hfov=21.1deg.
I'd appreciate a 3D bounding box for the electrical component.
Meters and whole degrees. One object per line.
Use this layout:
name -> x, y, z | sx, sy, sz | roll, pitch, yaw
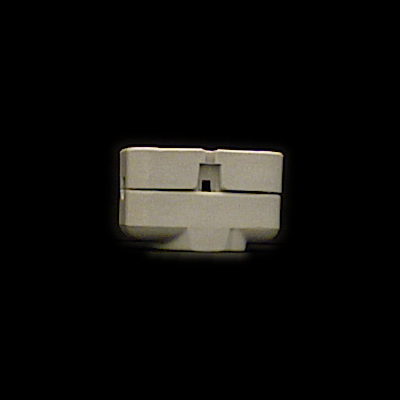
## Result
electrical component -> 0.000, 0.000, 0.655 | 0.095, 0.059, 0.053 | 2, 1, -13
